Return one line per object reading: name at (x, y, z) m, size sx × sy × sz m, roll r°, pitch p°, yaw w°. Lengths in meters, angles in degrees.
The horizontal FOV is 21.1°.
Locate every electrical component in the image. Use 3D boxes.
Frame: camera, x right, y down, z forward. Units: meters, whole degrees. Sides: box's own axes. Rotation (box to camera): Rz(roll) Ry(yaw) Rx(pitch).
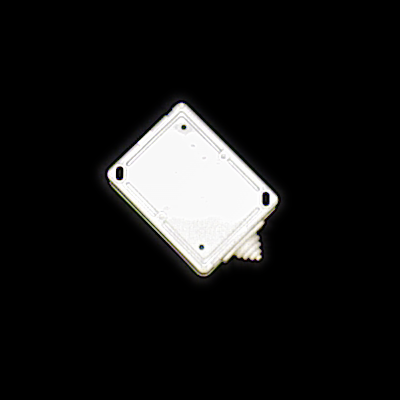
electrical component at (0.000, 0.000, 0.626) m, size 0.062 × 0.096 × 0.060 m, roll -44°, pitch -5°, yaw -5°
